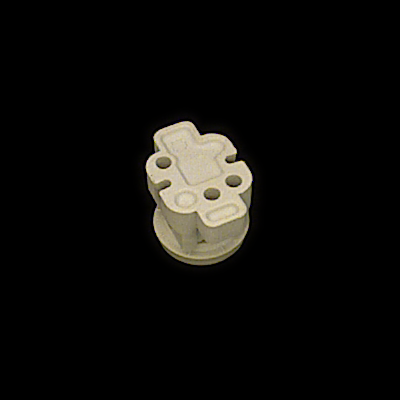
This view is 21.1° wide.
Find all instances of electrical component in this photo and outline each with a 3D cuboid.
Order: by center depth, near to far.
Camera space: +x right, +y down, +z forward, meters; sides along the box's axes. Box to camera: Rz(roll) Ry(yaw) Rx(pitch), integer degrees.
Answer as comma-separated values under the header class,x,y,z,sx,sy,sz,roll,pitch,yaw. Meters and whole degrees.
class,x,y,z,sx,sy,sz,roll,pitch,yaw
electrical component,0.000,0.000,0.637,0.058,0.077,0.057,-22,-35,-15
